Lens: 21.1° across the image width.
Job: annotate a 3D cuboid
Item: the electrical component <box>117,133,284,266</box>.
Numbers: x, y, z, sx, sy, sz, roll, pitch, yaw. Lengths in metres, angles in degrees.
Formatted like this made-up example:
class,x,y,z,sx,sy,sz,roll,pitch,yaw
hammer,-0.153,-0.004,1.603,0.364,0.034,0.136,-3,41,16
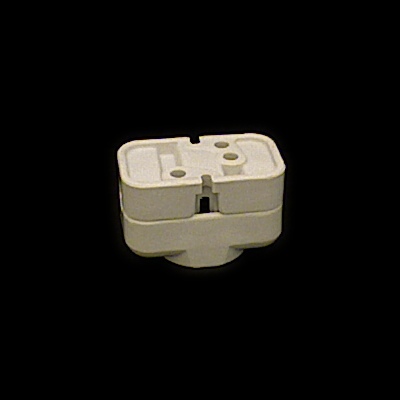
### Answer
class,x,y,z,sx,sy,sz,roll,pitch,yaw
electrical component,0.000,0.000,0.643,0.095,0.060,0.053,-5,33,-8
